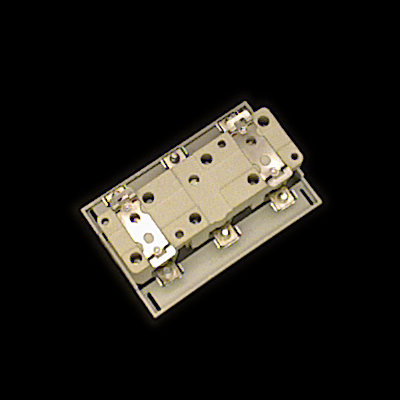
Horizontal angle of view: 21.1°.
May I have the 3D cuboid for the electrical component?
[{"bbox_3d":[0.000,0.000,0.633,0.122,0.079,0.062,-34,-13,-9],"label":"electrical component"}]
